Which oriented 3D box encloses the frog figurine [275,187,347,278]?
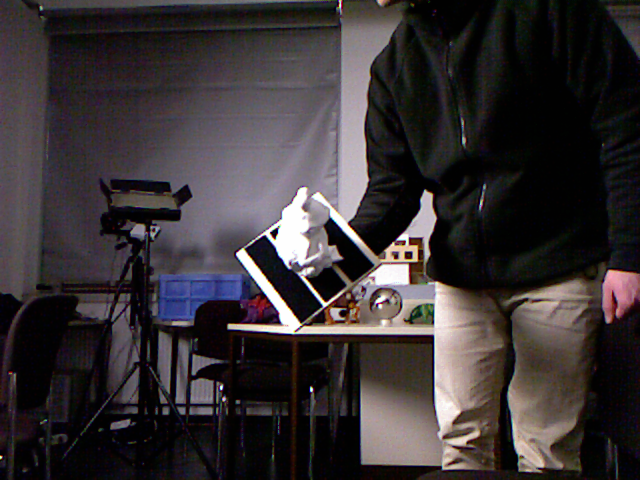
[{"bbox_3d":[-0.028,-0.011,0.901,0.123,0.140,0.157,-20,-28,5],"label":"frog figurine"}]
